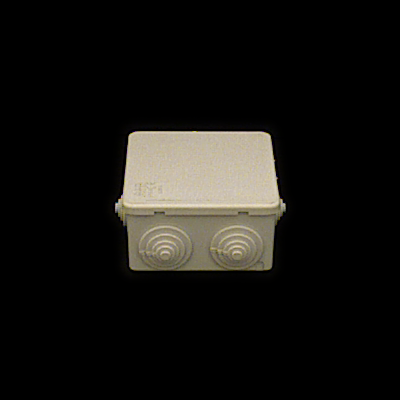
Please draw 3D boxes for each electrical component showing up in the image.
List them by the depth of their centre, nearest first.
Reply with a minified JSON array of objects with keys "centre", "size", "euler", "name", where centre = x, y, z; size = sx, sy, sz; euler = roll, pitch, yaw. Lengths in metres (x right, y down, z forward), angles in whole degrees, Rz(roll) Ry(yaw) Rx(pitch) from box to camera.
[{"centre":[0.000,0.000,0.643],"size":[0.100,0.049,0.098],"euler":[0,32,-1],"name":"electrical component"}]
